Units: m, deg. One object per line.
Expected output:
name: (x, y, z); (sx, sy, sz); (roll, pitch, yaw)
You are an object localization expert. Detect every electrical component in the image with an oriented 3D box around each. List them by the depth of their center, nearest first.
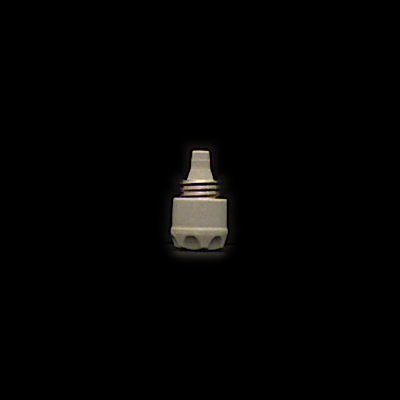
electrical component: (0.000, 0.000, 0.664); (0.035, 0.061, 0.035); (1, 3, 0)
